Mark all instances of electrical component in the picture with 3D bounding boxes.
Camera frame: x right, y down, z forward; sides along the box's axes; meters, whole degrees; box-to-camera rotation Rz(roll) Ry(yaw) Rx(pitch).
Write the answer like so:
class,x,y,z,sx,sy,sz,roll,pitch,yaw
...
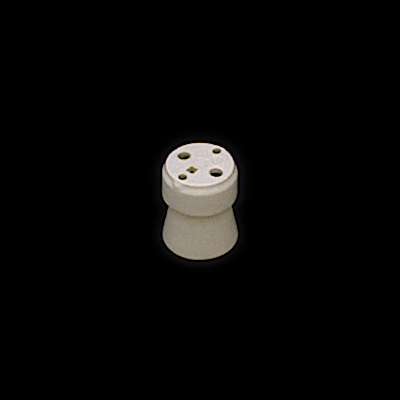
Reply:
class,x,y,z,sx,sy,sz,roll,pitch,yaw
electrical component,0.000,0.000,0.633,0.045,0.055,0.044,1,42,0
